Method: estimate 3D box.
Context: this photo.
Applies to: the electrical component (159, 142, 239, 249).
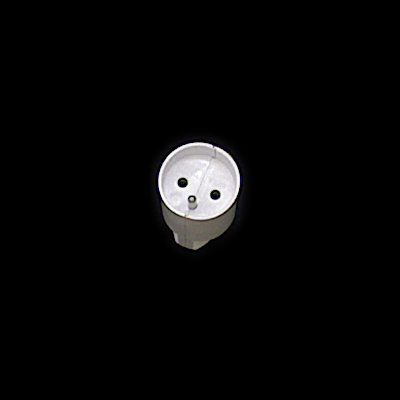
[{"bbox_3d":[0.000,0.000,0.614,0.043,0.043,0.080,0,-16,1],"label":"electrical component"}]
